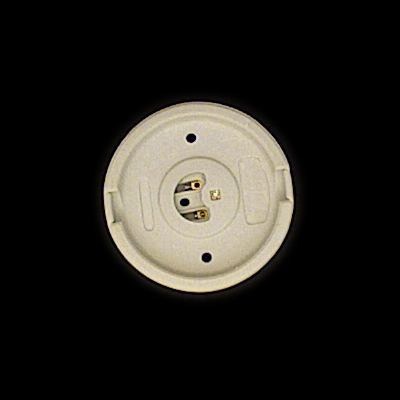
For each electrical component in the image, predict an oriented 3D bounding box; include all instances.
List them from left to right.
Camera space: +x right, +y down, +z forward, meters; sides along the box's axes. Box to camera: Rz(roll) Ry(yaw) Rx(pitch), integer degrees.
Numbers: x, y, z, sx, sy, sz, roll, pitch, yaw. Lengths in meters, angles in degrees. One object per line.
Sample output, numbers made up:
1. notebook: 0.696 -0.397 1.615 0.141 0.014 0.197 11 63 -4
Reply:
1. electrical component: 0.000 0.000 0.635 0.108 0.108 0.060 0 -6 0
